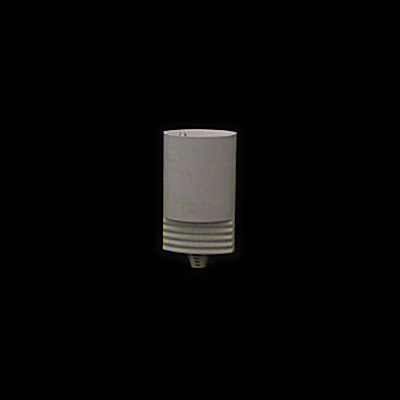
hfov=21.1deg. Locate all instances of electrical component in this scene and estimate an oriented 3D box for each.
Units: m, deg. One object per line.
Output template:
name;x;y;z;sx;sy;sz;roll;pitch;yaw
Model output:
electrical component;0.000;0.000;0.640;0.043;0.081;0.043;1;10;0
